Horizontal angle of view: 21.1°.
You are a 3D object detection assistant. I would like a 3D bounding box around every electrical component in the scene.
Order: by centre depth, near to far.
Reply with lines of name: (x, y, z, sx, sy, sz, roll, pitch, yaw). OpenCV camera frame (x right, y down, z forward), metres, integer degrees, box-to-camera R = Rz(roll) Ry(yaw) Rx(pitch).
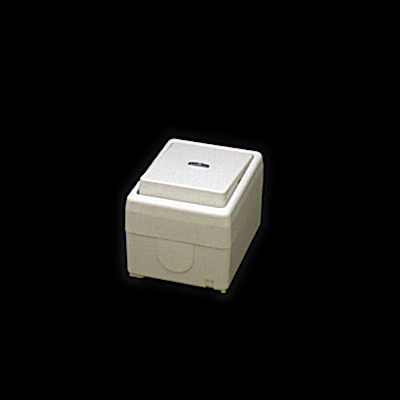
electrical component: (0.000, 0.000, 0.636, 0.061, 0.061, 0.095, 10, 32, 14)
